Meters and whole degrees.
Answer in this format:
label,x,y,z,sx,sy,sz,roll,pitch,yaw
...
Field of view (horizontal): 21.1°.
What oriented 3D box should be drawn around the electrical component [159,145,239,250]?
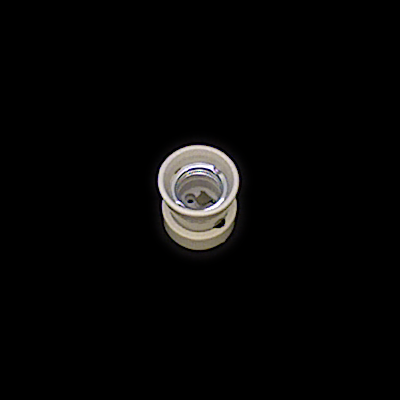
label,x,y,z,sx,sy,sz,roll,pitch,yaw
electrical component,0.000,0.000,0.627,0.045,0.045,0.055,0,-27,1
